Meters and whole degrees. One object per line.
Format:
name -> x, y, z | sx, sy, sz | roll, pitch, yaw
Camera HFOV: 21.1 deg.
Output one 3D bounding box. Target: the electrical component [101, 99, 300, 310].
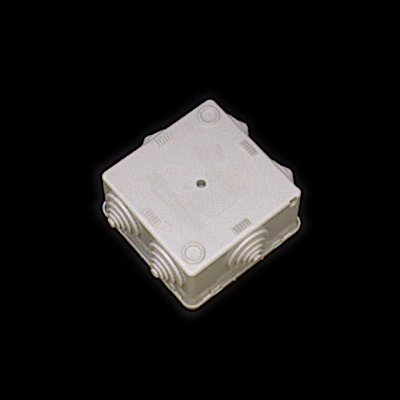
electrical component -> 0.000, 0.000, 0.631 | 0.100, 0.099, 0.048 | -36, -21, -17
